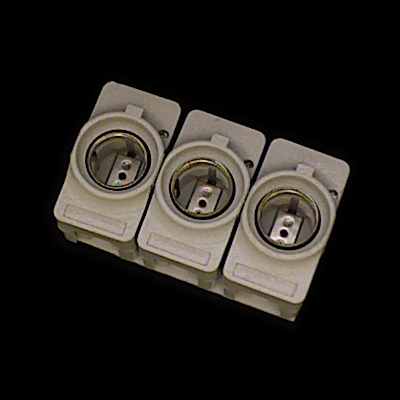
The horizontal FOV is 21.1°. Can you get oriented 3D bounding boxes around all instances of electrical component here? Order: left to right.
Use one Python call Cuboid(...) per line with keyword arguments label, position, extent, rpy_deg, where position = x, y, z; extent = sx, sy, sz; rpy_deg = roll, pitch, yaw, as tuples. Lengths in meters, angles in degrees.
Cuboid(label="electrical component", position=(0.000, 0.000, 0.632), extent=(0.150, 0.089, 0.062), rpy_deg=(19, -17, 5))
